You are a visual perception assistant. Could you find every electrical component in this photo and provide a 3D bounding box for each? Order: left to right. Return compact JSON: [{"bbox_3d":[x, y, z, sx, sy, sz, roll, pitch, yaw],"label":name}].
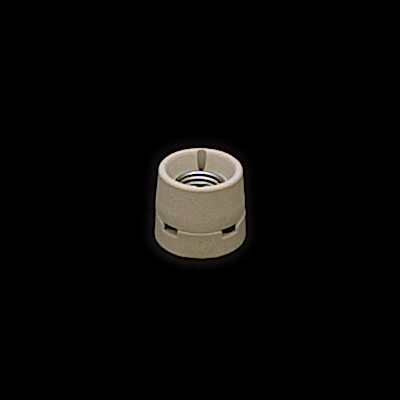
[{"bbox_3d":[0.000,0.000,0.636,0.055,0.047,0.055,0,32,0],"label":"electrical component"}]
